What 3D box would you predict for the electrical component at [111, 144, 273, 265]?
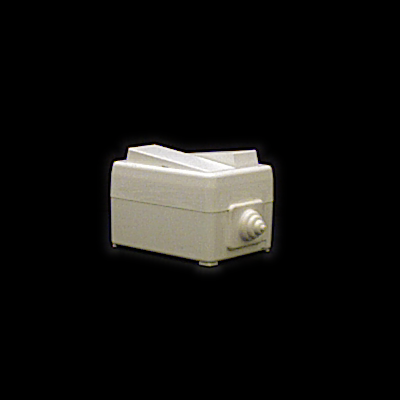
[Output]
[{"bbox_3d":[0.000,0.000,0.643,0.096,0.061,0.061,9,13,39],"label":"electrical component"}]
